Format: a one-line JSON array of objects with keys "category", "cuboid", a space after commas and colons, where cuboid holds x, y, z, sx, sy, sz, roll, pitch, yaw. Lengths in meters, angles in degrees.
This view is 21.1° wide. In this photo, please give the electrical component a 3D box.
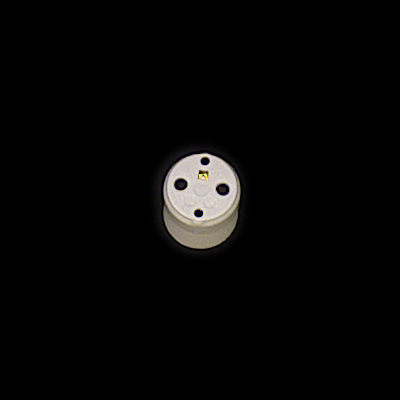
[{"category": "electrical component", "cuboid": [0.000, 0.000, 0.629, 0.045, 0.045, 0.055, 0, -16, 0]}]
